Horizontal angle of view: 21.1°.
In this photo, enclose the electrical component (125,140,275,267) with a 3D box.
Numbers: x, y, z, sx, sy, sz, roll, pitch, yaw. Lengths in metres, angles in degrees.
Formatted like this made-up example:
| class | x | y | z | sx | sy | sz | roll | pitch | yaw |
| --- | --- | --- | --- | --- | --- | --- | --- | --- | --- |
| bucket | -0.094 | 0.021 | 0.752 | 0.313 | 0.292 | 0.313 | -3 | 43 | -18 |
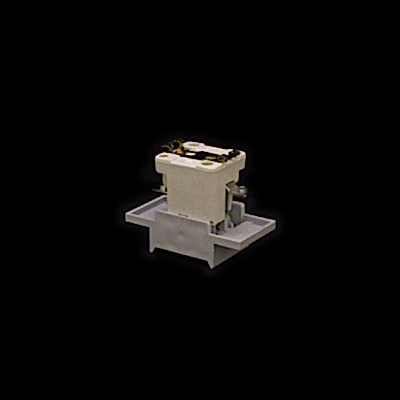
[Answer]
| class | x | y | z | sx | sy | sz | roll | pitch | yaw |
| --- | --- | --- | --- | --- | --- | --- | --- | --- | --- |
| electrical component | 0.000 | 0.000 | 0.638 | 0.080 | 0.064 | 0.042 | 14 | 25 | 29 |
